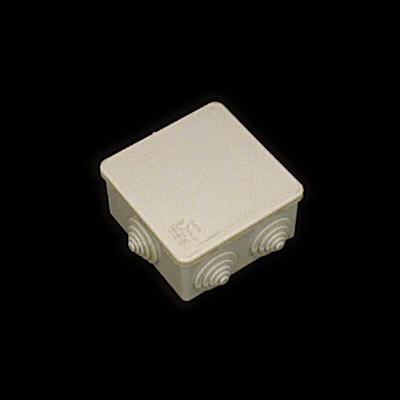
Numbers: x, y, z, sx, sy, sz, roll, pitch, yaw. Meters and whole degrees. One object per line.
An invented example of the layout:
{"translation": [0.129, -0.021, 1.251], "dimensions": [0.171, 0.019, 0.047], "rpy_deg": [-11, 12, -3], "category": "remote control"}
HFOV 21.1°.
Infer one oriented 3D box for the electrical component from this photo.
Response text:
{"translation": [0.000, 0.000, 0.639], "dimensions": [0.100, 0.099, 0.048], "rpy_deg": [-30, -31, -21], "category": "electrical component"}
